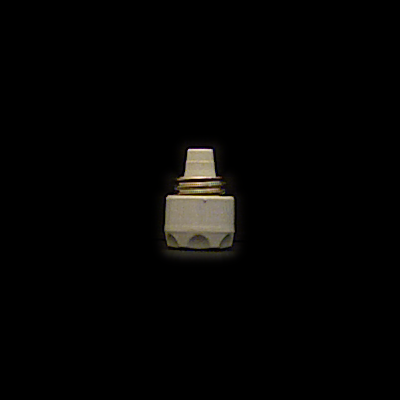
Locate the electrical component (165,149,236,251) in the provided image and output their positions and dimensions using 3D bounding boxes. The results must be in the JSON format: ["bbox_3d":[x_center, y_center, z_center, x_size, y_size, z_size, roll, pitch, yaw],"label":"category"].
[{"bbox_3d":[0.000,0.000,0.655,0.043,0.062,0.043,0,3,1],"label":"electrical component"}]
